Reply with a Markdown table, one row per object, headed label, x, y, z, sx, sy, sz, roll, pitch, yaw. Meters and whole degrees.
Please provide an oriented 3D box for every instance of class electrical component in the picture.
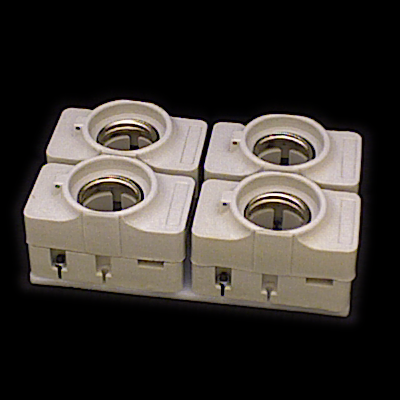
| label | x | y | z | sx | sy | sz | roll | pitch | yaw |
| --- | --- | --- | --- | --- | --- | --- | --- | --- | --- |
| electrical component | 0.000 | 0.000 | 0.629 | 0.186 | 0.061 | 0.104 | 5 | 42 | 5 |
